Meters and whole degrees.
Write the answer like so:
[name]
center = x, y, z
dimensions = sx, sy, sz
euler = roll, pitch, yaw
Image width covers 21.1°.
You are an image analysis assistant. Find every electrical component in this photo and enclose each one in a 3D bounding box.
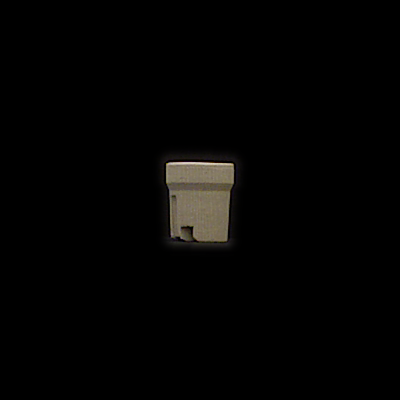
[electrical component]
center = 0.000, 0.000, 0.648
dimensions = 0.040, 0.046, 0.040
euler = 1, 1, 1
